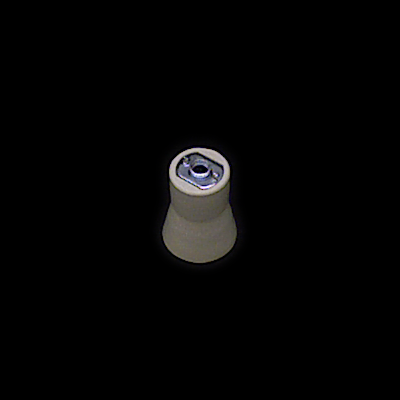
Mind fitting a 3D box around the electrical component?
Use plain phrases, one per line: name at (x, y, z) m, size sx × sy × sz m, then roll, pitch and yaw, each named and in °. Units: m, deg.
electrical component at (0.000, 0.000, 0.626) m, size 0.044 × 0.044 × 0.065 m, roll 0°, pitch -37°, yaw 0°
